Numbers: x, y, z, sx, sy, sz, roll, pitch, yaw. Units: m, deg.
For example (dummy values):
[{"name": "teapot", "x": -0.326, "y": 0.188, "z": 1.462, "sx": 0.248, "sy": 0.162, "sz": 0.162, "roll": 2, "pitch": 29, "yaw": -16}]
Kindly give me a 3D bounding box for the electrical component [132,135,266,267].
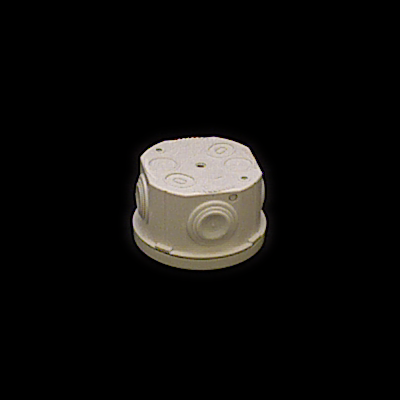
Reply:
[{"name": "electrical component", "x": 0.000, "y": 0.000, "z": 0.637, "sx": 0.080, "sy": 0.051, "sz": 0.079, "roll": 1, "pitch": 31, "yaw": -1}]
